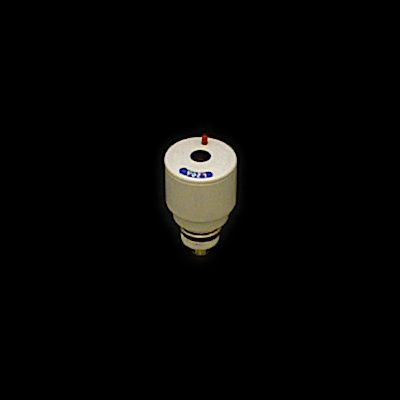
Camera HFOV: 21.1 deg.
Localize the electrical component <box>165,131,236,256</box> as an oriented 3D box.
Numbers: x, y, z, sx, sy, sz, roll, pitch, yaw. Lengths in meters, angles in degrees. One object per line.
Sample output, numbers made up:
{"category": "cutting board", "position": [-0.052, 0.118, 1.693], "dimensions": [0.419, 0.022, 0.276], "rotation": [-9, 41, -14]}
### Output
{"category": "electrical component", "position": [0.000, 0.000, 0.626], "dimensions": [0.040, 0.079, 0.039], "rotation": [0, 41, 0]}
